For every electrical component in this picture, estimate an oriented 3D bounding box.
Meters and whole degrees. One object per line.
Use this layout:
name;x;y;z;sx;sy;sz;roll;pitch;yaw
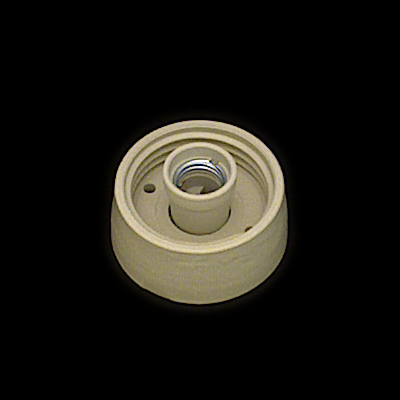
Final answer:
electrical component;0.000;0.000;0.634;0.108;0.107;0.060;0;-37;-1
